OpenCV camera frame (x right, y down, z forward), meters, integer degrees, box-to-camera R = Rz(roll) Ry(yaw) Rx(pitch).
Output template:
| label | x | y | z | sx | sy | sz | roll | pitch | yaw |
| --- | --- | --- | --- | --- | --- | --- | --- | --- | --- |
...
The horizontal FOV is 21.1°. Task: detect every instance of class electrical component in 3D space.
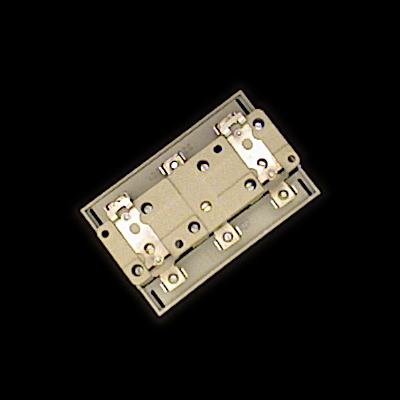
| label | x | y | z | sx | sy | sz | roll | pitch | yaw |
| --- | --- | --- | --- | --- | --- | --- | --- | --- | --- |
| electrical component | 0.000 | 0.000 | 0.635 | 0.122 | 0.079 | 0.063 | -37 | -6 | -4 |
